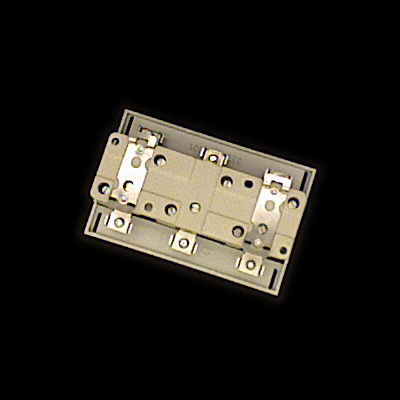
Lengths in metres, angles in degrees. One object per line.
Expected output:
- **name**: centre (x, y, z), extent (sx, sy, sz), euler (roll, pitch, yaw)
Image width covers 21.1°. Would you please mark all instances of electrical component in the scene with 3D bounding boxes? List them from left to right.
- **electrical component**: centre (0.000, 0.000, 0.635), extent (0.121, 0.079, 0.063), euler (18, -6, 2)
